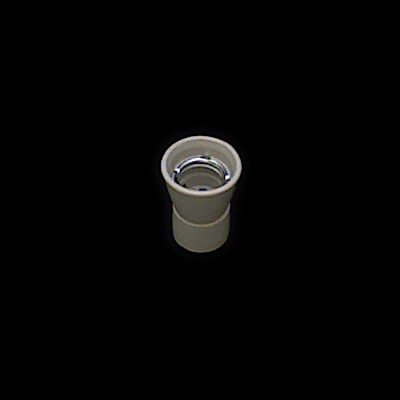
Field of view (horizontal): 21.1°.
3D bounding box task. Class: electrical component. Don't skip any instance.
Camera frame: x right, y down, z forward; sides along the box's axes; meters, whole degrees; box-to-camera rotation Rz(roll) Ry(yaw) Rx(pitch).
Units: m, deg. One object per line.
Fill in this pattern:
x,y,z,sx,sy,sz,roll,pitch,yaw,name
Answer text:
0.000,0.000,0.628,0.044,0.044,0.065,0,-39,0,electrical component
